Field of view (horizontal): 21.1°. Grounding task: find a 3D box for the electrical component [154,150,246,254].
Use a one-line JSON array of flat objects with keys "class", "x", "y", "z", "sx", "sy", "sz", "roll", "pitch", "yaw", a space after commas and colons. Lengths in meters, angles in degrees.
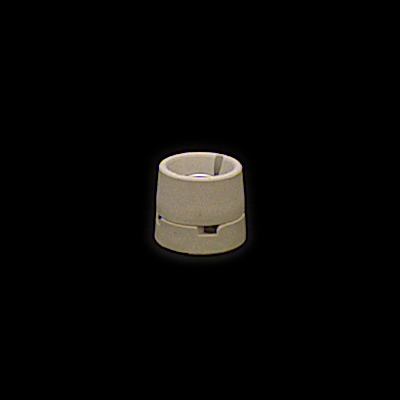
[{"class": "electrical component", "x": 0.000, "y": 0.000, "z": 0.640, "sx": 0.055, "sy": 0.047, "sz": 0.055, "roll": 0, "pitch": 22, "yaw": 0}]
